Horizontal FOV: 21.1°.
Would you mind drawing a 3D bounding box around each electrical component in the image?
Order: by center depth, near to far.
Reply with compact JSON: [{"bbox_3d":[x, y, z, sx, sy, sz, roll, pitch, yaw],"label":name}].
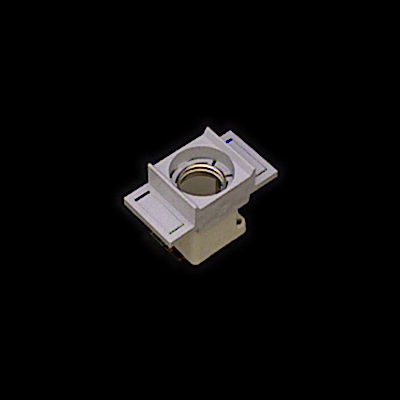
[{"bbox_3d":[0.000,0.000,0.624,0.081,0.042,0.064,-33,-30,-24],"label":"electrical component"}]
